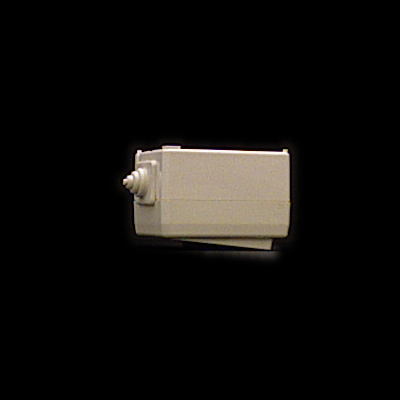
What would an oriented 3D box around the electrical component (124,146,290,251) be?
[{"bbox_3d":[0.000,0.000,0.652,0.096,0.061,0.061,0,1,-21],"label":"electrical component"}]
